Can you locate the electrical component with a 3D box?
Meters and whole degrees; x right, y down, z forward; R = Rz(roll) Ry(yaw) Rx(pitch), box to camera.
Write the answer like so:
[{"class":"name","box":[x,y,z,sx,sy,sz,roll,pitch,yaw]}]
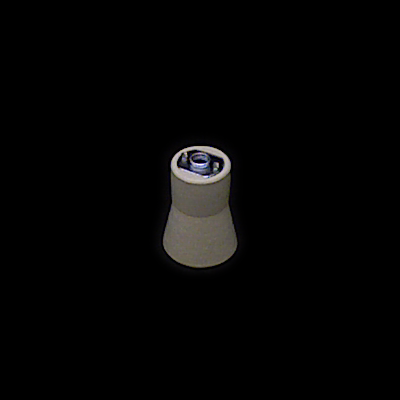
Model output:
[{"class":"electrical component","box":[0.000,0.000,0.630,0.044,0.066,0.044,1,41,0]}]
